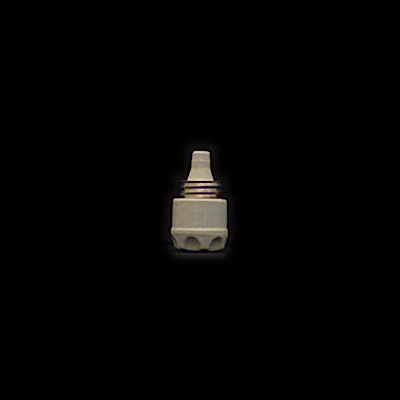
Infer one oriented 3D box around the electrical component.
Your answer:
[{"bbox_3d":[0.000,0.000,0.661,0.035,0.061,0.035,2,0,0],"label":"electrical component"}]
